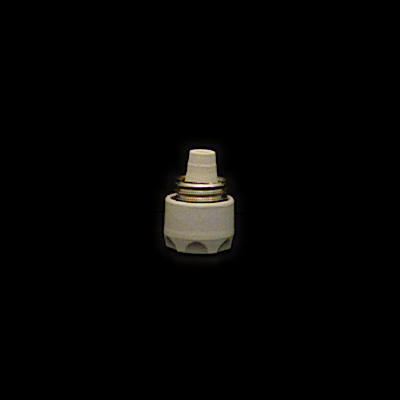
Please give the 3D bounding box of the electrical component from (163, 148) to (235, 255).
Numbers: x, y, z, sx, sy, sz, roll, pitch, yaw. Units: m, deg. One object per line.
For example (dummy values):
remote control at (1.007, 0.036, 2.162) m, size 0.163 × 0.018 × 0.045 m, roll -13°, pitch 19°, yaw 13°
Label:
electrical component at (0.000, 0.000, 0.651) m, size 0.043 × 0.062 × 0.043 m, roll 2°, pitch 12°, yaw 0°
